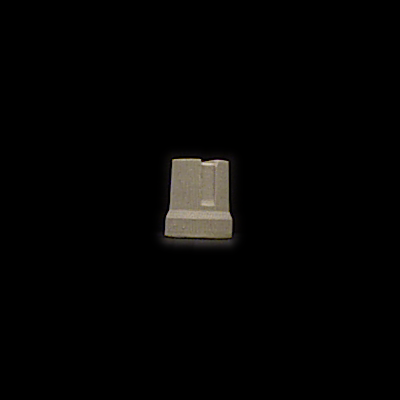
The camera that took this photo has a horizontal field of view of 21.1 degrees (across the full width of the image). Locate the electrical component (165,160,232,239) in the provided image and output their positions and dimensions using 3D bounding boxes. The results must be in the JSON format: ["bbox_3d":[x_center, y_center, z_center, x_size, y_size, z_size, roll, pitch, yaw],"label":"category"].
[{"bbox_3d":[0.000,0.000,0.651,0.040,0.046,0.040,2,1,0],"label":"electrical component"}]
